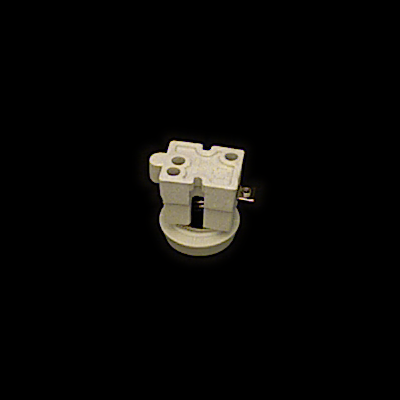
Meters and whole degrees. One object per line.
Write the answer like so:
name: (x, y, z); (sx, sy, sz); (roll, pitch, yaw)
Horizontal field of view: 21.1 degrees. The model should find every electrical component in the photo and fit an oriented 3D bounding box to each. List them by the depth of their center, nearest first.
electrical component: (0.000, 0.000, 0.640); (0.066, 0.056, 0.048); (7, 42, 6)
